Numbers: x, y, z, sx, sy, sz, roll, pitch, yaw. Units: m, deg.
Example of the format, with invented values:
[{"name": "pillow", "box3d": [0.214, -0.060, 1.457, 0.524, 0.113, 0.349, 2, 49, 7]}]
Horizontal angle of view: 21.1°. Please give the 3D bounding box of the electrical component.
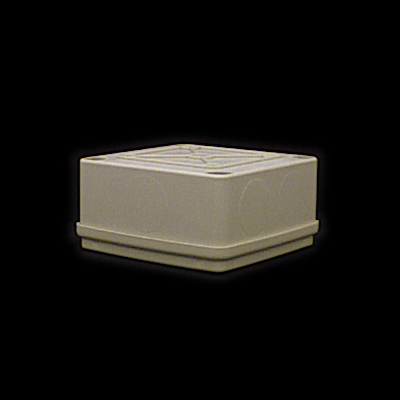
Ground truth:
[{"name": "electrical component", "box3d": [0.000, 0.000, 0.642, 0.108, 0.056, 0.108, 8, 12, 35]}]
